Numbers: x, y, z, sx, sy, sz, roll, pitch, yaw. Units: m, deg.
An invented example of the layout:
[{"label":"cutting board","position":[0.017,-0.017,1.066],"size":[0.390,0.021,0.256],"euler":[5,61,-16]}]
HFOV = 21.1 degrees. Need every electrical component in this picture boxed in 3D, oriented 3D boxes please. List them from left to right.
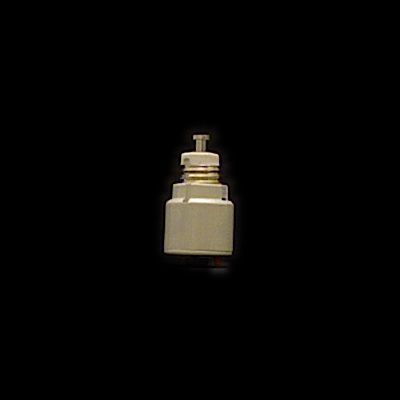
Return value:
[{"label":"electrical component","position":[0.000,0.000,0.648],"size":[0.040,0.078,0.040],"euler":[1,0,0]}]
